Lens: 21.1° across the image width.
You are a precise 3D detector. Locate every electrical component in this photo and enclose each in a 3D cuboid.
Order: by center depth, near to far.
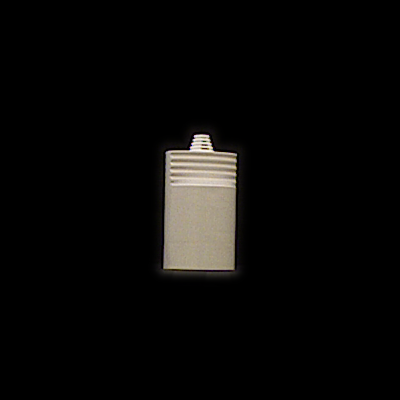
[{"bbox_3d":[0.000,0.000,0.650,0.043,0.081,0.043,1,1,0],"label":"electrical component"}]
